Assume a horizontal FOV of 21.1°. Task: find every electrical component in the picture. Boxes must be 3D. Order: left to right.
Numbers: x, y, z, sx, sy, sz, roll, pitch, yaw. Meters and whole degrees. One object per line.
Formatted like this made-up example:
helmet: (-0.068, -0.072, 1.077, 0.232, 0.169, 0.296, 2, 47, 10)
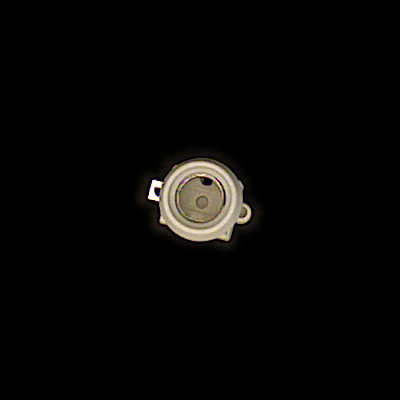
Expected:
electrical component: (0.000, 0.000, 0.639, 0.066, 0.048, 0.055, 13, -7, 2)
